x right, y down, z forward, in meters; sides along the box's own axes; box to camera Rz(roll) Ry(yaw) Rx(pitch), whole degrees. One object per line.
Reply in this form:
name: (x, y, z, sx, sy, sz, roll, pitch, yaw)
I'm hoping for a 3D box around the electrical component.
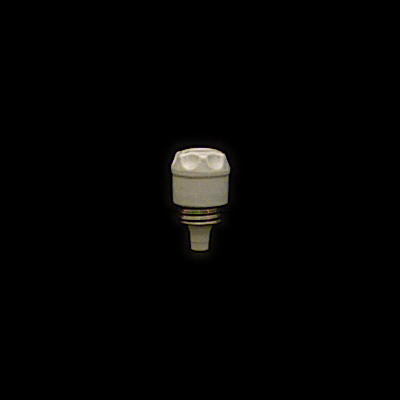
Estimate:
electrical component: (0.000, 0.000, 0.651, 0.035, 0.062, 0.035, 1, 12, 0)
